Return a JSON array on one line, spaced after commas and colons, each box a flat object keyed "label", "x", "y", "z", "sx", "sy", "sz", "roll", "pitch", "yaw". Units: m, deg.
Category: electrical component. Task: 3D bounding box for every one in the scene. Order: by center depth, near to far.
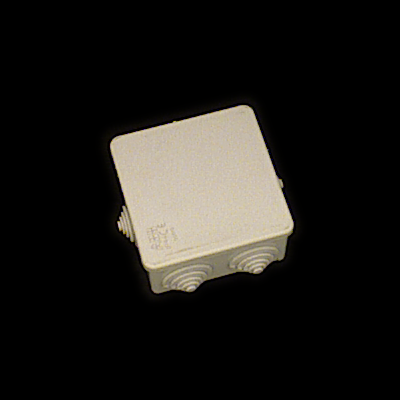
[{"label": "electrical component", "x": 0.000, "y": 0.000, "z": 0.639, "sx": 0.100, "sy": 0.099, "sz": 0.048, "roll": -14, "pitch": -26, "yaw": -7}]
